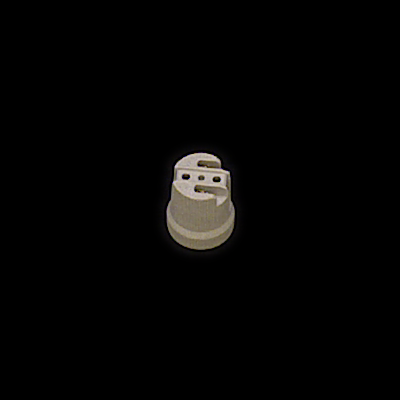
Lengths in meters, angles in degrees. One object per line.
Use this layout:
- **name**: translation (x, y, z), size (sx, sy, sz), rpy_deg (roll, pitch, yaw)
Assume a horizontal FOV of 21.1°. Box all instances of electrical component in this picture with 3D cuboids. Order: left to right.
- **electrical component**: translation (0.000, 0.000, 0.633), size (0.040, 0.040, 0.046), rpy_deg (0, -37, 0)
